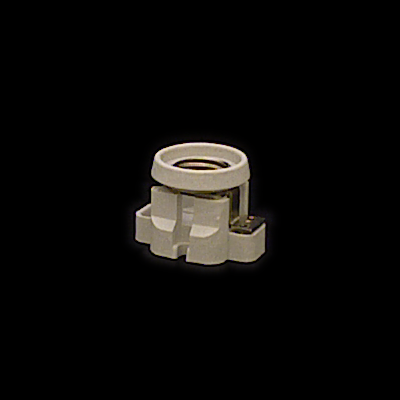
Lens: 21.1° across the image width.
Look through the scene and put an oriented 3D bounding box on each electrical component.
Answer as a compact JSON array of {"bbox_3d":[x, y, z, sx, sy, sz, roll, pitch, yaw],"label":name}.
[{"bbox_3d":[0.000,0.000,0.639,0.078,0.057,0.057,10,23,23],"label":"electrical component"}]
